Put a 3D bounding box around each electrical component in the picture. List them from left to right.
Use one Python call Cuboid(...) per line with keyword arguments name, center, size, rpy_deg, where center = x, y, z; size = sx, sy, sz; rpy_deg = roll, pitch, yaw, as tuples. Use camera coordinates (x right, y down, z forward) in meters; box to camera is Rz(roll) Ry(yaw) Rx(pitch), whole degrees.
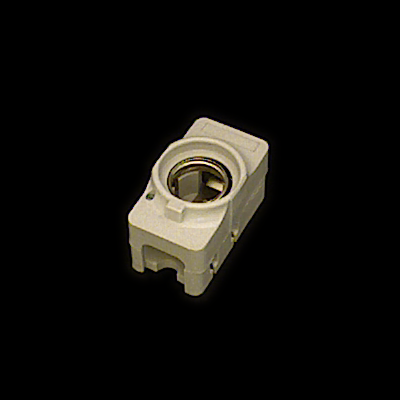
Cuboid(name="electrical component", center=(0.000, 0.000, 0.637), size=(0.050, 0.090, 0.056), rpy_deg=(23, -34, 16))
